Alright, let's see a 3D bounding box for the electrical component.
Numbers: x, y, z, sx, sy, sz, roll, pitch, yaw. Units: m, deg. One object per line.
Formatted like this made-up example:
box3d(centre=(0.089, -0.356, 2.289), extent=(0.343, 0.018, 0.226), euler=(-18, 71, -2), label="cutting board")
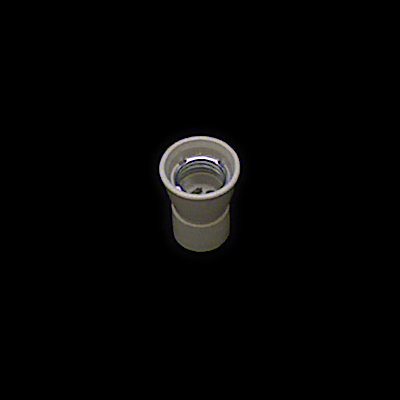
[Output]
box3d(centre=(0.000, 0.000, 0.625), extent=(0.044, 0.044, 0.065), euler=(0, -37, 1), label="electrical component")
